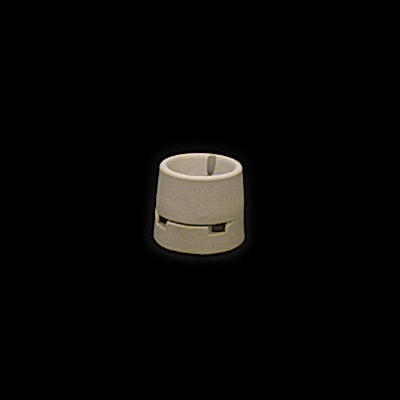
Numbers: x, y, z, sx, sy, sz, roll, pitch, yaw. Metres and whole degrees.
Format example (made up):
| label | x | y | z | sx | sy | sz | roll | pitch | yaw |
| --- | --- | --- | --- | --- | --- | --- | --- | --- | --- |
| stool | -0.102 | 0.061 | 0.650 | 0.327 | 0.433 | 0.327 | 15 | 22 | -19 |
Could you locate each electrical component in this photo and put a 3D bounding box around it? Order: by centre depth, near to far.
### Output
| label | x | y | z | sx | sy | sz | roll | pitch | yaw |
| --- | --- | --- | --- | --- | --- | --- | --- | --- | --- |
| electrical component | 0.000 | 0.000 | 0.643 | 0.055 | 0.047 | 0.055 | 2 | 20 | -1 |
